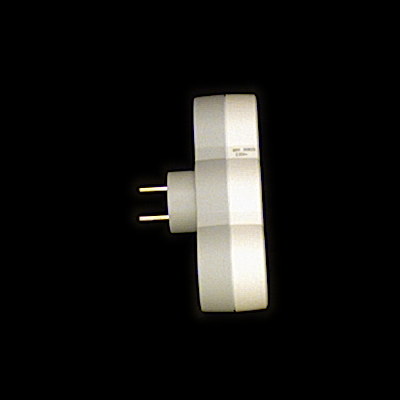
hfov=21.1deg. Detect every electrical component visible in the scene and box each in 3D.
[{"bbox_3d":[0.000,0.000,0.638,0.074,0.138,0.052,-2,-26,0],"label":"electrical component"}]
